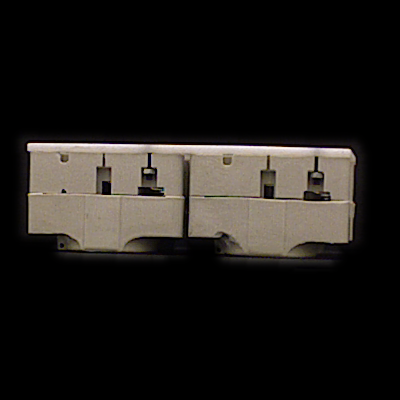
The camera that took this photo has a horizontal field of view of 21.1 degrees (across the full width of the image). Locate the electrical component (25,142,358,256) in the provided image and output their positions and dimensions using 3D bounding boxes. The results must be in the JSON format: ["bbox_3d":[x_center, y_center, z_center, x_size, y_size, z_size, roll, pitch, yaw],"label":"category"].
[{"bbox_3d":[0.000,0.000,0.649,0.186,0.060,0.105,1,0,9],"label":"electrical component"}]
